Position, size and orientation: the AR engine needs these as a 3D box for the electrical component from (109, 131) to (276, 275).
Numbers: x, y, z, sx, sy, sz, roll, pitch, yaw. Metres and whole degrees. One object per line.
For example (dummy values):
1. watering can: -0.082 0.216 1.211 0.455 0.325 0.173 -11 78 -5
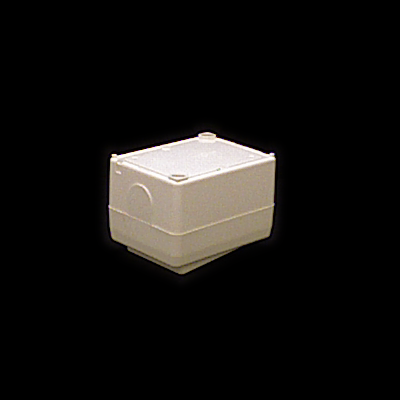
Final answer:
1. electrical component: 0.000 0.000 0.638 0.096 0.061 0.061 -17 27 -40
